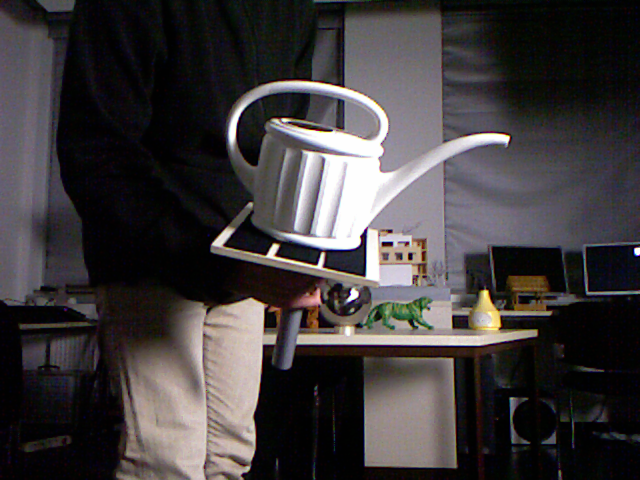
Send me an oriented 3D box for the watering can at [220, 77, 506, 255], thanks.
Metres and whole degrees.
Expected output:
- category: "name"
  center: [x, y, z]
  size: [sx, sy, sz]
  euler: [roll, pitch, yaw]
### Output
- category: "watering can"
  center: [0.038, -0.079, 0.653]
  size: [0.348, 0.220, 0.106]
  euler: [13, 23, 2]
